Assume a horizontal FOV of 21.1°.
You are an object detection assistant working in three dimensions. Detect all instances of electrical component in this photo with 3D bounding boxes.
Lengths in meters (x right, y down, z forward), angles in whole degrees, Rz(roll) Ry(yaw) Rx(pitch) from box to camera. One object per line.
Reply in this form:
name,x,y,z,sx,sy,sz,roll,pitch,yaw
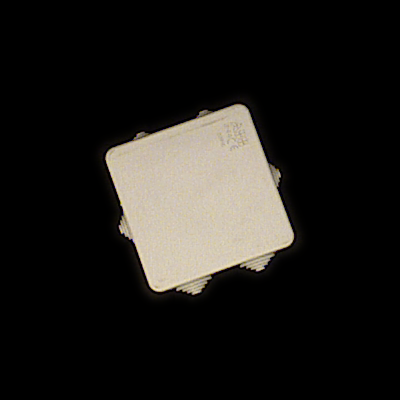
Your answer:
electrical component,0.000,0.000,0.642,0.100,0.100,0.048,-19,-6,-2
